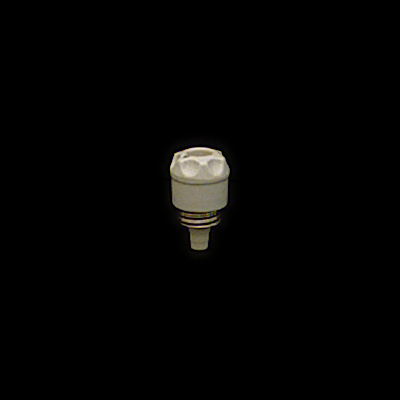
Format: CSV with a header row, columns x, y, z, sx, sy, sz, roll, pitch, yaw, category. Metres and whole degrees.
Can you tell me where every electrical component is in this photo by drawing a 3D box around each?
x,y,z,sx,sy,sz,roll,pitch,yaw,category
0.000,0.000,0.645,0.035,0.062,0.035,1,22,0,electrical component
